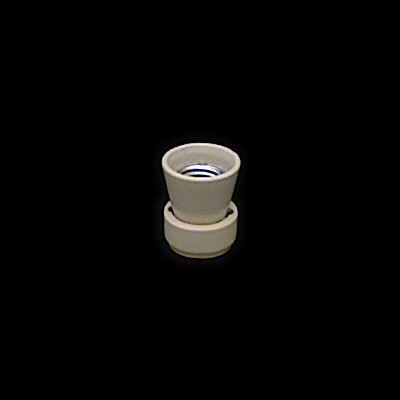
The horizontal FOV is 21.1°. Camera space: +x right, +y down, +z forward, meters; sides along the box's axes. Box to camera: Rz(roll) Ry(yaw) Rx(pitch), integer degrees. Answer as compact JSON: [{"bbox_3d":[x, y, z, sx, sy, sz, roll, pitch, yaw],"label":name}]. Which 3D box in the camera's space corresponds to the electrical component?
[{"bbox_3d":[0.000,0.000,0.636,0.045,0.056,0.044,1,31,0],"label":"electrical component"}]
